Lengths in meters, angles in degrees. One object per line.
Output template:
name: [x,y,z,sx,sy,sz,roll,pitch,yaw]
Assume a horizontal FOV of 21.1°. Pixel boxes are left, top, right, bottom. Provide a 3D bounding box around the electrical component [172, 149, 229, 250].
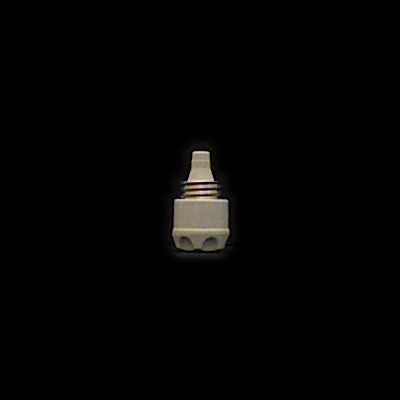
electrical component: [0.000,0.000,0.661,0.035,0.061,0.035,0,2,0]
